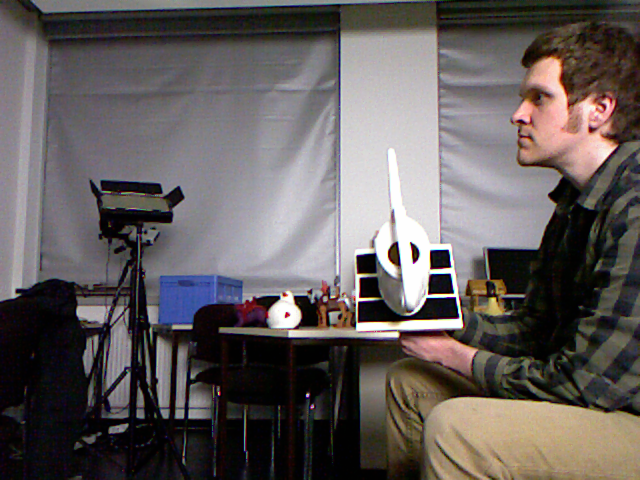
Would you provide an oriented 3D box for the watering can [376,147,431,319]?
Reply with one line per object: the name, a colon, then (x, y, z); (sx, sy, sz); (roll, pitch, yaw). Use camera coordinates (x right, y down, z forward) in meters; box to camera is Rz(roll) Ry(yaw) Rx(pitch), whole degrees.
watering can: (0.159, 0.003, 1.015); (0.104, 0.357, 0.220); (-4, -36, 5)
